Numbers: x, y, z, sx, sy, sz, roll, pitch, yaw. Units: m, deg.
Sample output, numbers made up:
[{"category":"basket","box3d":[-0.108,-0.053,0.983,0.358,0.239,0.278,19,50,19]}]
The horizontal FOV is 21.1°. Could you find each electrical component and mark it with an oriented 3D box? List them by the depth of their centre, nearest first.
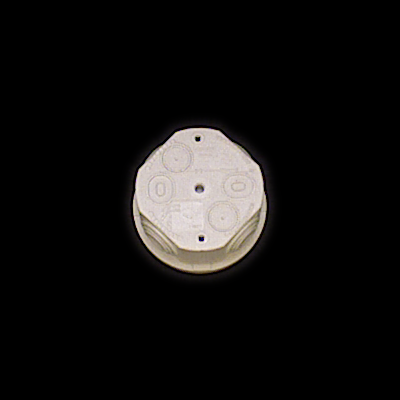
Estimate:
[{"category":"electrical component","box3d":[0.000,0.000,0.631,0.080,0.080,0.050,0,-16,0]}]
